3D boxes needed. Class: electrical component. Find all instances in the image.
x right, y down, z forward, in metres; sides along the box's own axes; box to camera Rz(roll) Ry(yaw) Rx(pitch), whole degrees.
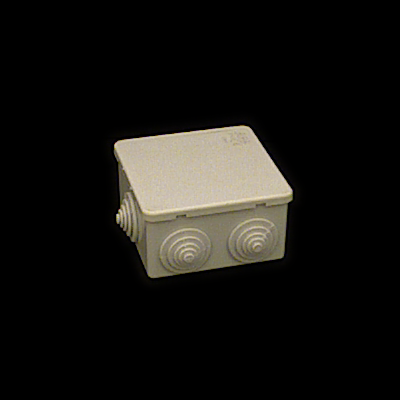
[{"bbox_3d":[0.000,0.000,0.646,0.100,0.049,0.098,-8,33,-14],"label":"electrical component"}]
